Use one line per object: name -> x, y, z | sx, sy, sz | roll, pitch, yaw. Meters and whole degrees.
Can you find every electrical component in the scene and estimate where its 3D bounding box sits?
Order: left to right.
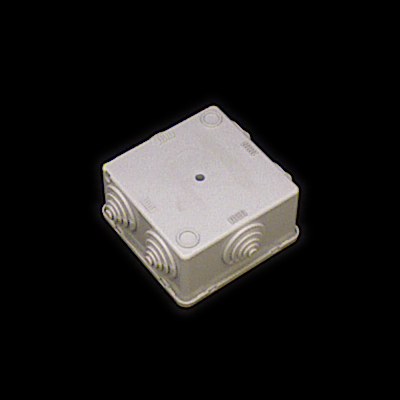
electrical component -> 0.000, 0.000, 0.633 | 0.100, 0.099, 0.049 | -30, -31, -22
